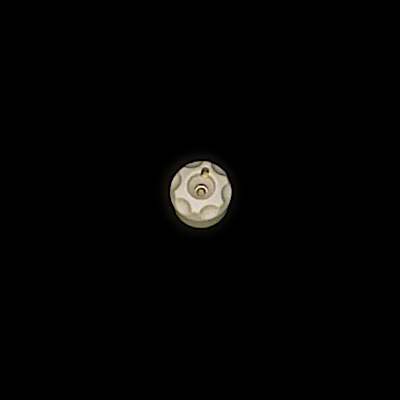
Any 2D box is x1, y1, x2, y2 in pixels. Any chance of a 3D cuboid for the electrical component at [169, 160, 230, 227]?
[{"bbox_3d":[0.000,0.000,0.634,0.035,0.035,0.061,0,-16,1],"label":"electrical component"}]
